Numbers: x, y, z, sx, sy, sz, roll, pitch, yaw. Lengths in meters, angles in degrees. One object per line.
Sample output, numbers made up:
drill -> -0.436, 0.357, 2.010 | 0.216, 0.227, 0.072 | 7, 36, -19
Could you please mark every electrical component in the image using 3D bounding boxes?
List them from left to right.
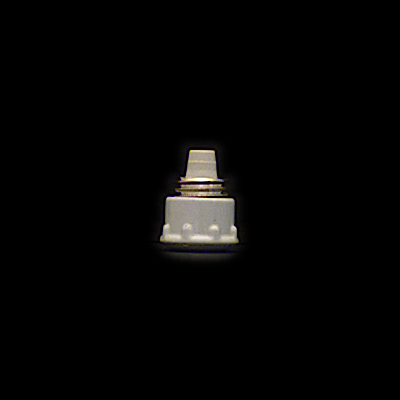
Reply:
electrical component -> 0.000, 0.000, 0.656 | 0.048, 0.062, 0.048 | 2, 3, 0
